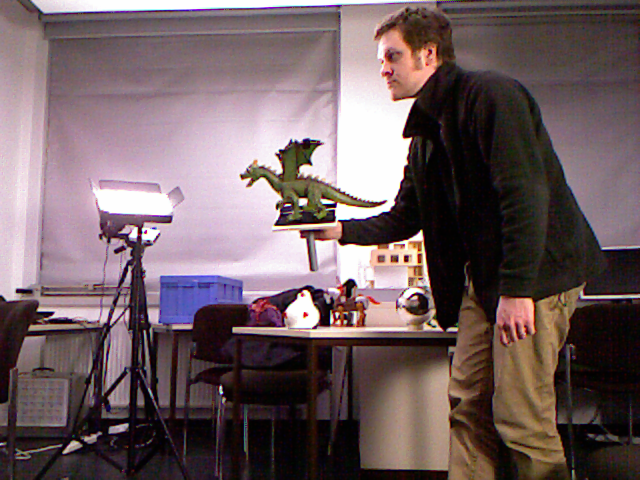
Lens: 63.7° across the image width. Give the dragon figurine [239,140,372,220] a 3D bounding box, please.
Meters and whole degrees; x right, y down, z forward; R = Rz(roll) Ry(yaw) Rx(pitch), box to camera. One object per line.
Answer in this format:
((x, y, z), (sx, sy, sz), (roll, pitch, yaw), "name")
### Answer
((-0.047, -0.198, 1.630), (0.410, 0.238, 0.125), (-5, 31, 3), "dragon figurine")
